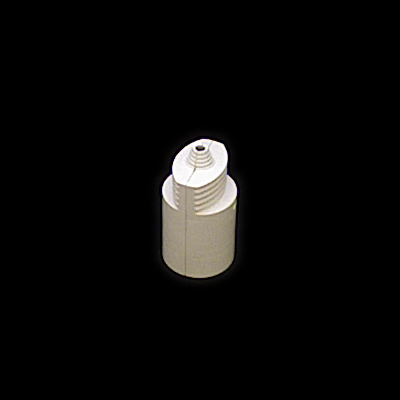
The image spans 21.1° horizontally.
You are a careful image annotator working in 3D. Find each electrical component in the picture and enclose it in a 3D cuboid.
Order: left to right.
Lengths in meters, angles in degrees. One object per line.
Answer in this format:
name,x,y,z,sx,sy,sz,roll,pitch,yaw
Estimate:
electrical component,0.000,0.000,0.623,0.043,0.082,0.042,0,42,0
